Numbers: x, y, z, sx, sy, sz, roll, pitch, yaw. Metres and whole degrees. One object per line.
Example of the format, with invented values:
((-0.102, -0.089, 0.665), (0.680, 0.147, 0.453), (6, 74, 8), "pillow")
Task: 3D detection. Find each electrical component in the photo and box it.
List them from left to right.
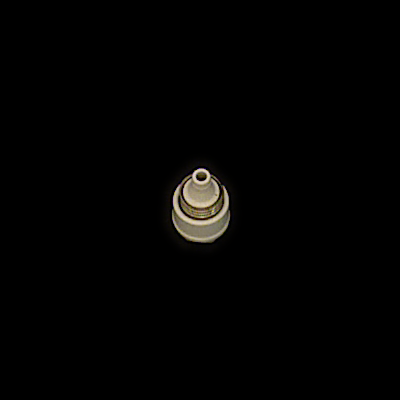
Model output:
((0.000, 0.000, 0.638), (0.035, 0.035, 0.061), (0, -27, -1), "electrical component")
